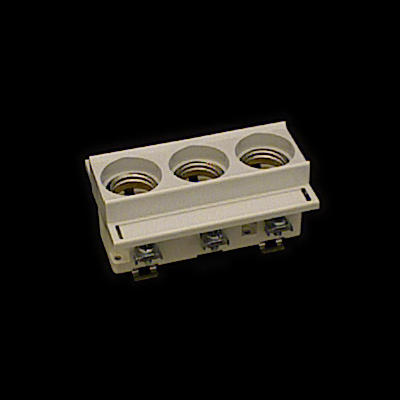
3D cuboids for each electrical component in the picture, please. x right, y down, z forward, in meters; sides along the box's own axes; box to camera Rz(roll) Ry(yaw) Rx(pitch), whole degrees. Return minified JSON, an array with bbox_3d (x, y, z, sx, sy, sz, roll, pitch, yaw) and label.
[{"bbox_3d":[0.000,0.000,0.643,0.122,0.064,0.077,-11,42,-12],"label":"electrical component"}]
